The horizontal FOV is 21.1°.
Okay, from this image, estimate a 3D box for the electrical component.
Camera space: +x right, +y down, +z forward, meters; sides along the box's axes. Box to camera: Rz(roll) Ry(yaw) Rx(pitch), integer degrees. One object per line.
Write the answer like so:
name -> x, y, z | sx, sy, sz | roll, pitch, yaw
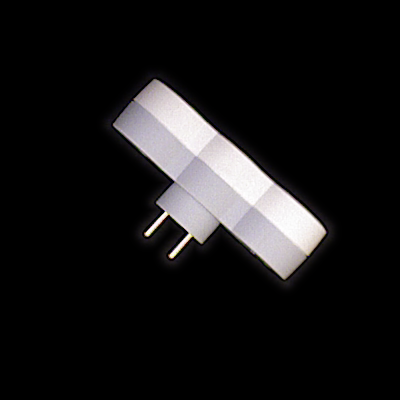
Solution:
electrical component -> 0.000, 0.000, 0.631 | 0.138, 0.074, 0.052 | 42, -3, 4
